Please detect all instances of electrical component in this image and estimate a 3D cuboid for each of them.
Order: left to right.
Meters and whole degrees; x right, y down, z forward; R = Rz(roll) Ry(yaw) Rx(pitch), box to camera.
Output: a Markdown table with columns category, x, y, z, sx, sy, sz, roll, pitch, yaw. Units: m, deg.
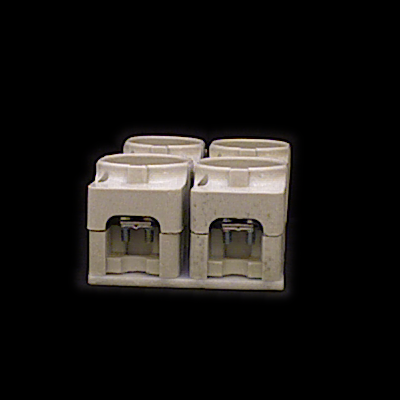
| category | x | y | z | sx | sy | sz | roll | pitch | yaw |
| --- | --- | --- | --- | --- | --- | --- | --- | --- | --- |
| electrical component | 0.000 | 0.000 | 0.644 | 0.105 | 0.061 | 0.185 | 2 | 10 | 5 |
